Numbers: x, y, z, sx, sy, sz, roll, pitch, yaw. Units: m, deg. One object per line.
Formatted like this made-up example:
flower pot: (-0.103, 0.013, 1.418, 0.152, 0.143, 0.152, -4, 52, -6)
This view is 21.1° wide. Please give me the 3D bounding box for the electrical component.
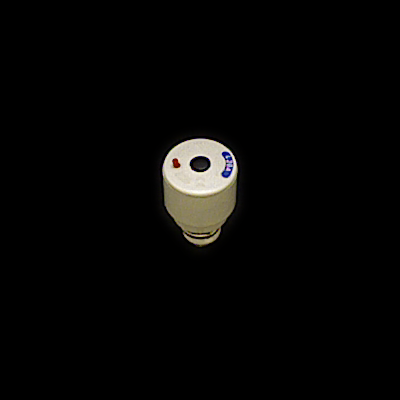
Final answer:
electrical component: (0.000, 0.000, 0.621, 0.040, 0.040, 0.079, 0, -38, 0)
